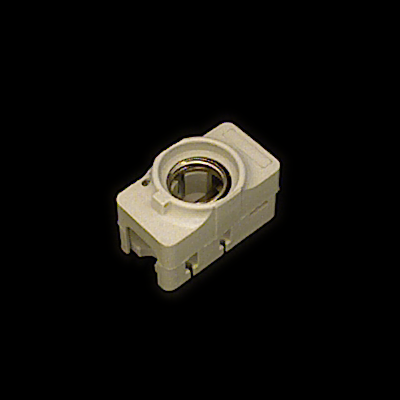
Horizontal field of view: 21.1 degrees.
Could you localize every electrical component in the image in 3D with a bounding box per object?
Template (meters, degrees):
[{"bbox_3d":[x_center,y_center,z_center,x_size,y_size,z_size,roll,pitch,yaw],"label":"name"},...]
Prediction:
[{"bbox_3d":[0.000,0.000,0.637,0.090,0.056,0.050,-36,61,-24],"label":"electrical component"}]
